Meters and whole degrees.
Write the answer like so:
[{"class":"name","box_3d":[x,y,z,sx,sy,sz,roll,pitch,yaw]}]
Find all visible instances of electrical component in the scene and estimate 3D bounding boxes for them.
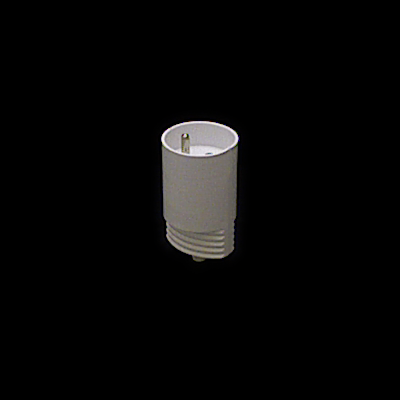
[{"class":"electrical component","box_3d":[0.000,0.000,0.627,0.043,0.082,0.042,1,31,0]}]
